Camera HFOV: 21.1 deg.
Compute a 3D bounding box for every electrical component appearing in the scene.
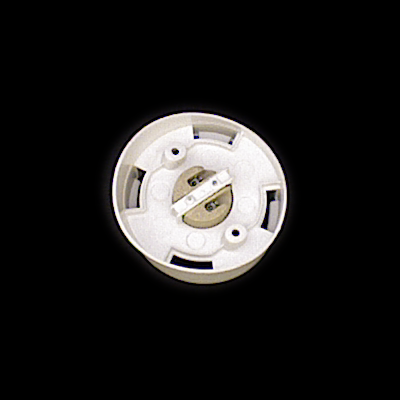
[{"bbox_3d":[0.000,0.000,0.623,0.099,0.099,0.064,0,-16,1],"label":"electrical component"}]
